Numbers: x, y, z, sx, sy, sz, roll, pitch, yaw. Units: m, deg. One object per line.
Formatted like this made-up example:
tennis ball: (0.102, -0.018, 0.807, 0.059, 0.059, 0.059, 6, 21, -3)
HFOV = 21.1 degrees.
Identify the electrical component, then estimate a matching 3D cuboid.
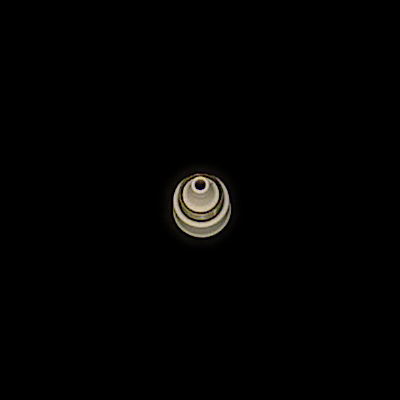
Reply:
electrical component: (0.000, 0.000, 0.637, 0.035, 0.035, 0.061, 0, -18, 1)
